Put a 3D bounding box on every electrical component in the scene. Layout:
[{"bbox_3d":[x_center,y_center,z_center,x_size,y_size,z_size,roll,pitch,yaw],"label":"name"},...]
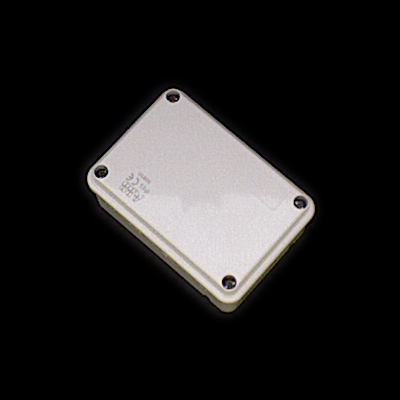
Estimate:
[{"bbox_3d":[0.000,0.000,0.626,0.113,0.078,0.057,40,-13,11],"label":"electrical component"}]
